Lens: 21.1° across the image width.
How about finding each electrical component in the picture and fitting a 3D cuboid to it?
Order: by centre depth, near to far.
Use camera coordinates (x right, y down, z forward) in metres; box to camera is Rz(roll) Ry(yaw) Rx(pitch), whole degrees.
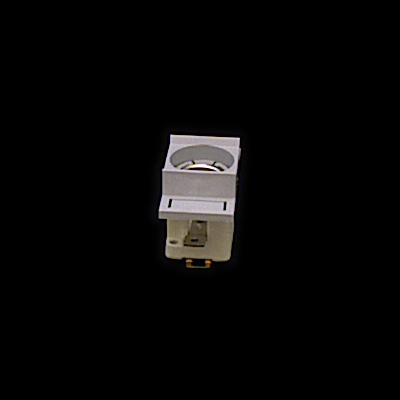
[{"bbox_3d":[0.000,0.000,0.630,0.042,0.064,0.080,4,31,4],"label":"electrical component"}]
